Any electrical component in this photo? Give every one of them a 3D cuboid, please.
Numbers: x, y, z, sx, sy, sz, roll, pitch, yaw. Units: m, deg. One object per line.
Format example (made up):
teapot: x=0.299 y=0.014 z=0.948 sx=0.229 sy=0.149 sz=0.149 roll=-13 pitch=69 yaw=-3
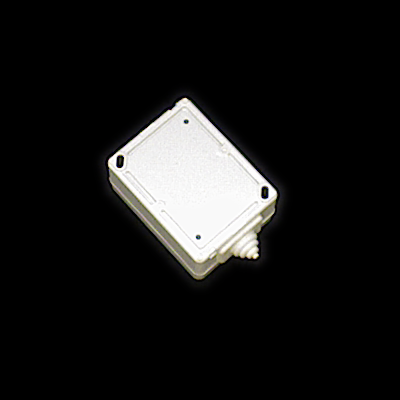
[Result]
electrical component: x=0.000 y=0.000 z=0.624 sx=0.062 sy=0.096 sz=0.060 roll=-41 pitch=-13 yaw=-12
